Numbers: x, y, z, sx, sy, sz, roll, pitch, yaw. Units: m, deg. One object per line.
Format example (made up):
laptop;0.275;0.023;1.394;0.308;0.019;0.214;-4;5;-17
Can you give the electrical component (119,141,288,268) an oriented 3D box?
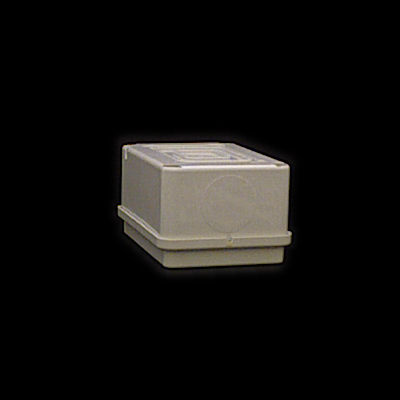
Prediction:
electrical component;0.000;0.000;0.644;0.078;0.057;0.112;-2;11;-17
